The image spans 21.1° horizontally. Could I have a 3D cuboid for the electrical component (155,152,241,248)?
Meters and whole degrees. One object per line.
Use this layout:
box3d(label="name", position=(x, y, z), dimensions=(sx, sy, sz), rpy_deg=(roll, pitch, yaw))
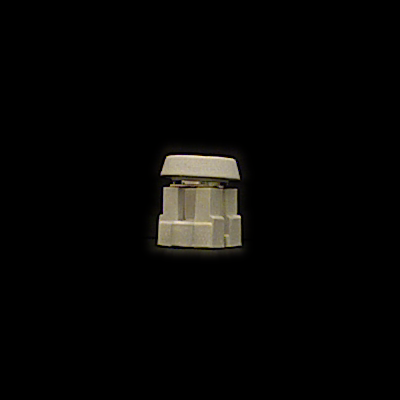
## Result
box3d(label="electrical component", position=(0.000, 0.000, 0.658), dimensions=(0.048, 0.055, 0.067), rpy_deg=(4, 3, 25))
